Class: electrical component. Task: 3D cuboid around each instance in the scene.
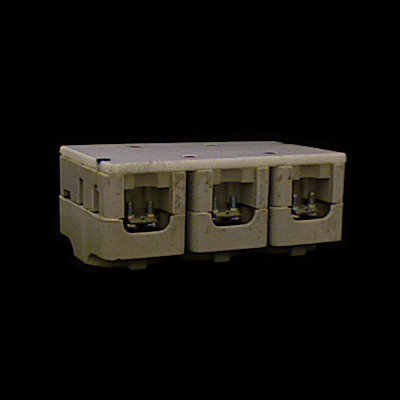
[{"bbox_3d":[0.000,0.000,0.647,0.150,0.062,0.088,-4,11,-25],"label":"electrical component"}]
